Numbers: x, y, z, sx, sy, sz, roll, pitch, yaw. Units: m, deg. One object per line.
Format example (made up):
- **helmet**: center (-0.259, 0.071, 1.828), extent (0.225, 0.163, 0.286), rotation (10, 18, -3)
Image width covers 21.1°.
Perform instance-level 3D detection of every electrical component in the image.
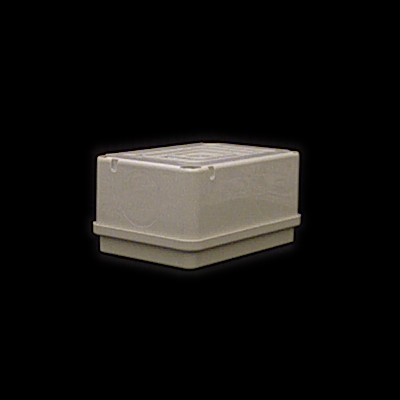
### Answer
- **electrical component**: center (0.000, 0.000, 0.645), extent (0.077, 0.057, 0.113), rotation (9, 12, 37)
